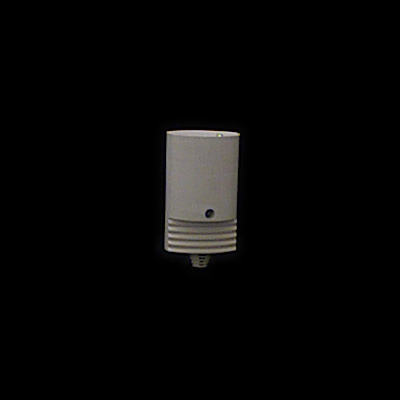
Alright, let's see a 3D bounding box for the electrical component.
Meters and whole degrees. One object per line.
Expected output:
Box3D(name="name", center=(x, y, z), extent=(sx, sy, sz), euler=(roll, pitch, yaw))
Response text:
Box3D(name="electrical component", center=(0.000, 0.000, 0.644), extent=(0.043, 0.082, 0.042), euler=(2, 11, 0))
